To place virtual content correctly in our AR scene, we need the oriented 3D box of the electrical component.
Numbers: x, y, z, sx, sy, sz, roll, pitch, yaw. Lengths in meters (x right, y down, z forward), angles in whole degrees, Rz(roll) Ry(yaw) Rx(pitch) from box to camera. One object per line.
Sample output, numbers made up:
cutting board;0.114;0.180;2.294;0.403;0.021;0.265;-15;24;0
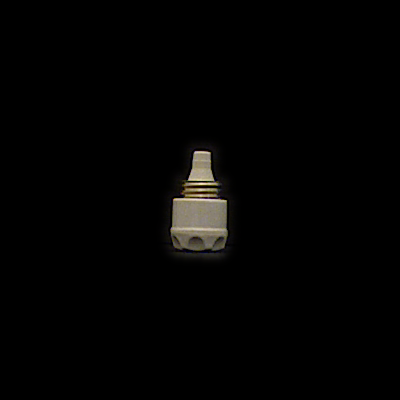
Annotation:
electrical component;0.000;0.000;0.662;0.035;0.061;0.035;3;1;0
